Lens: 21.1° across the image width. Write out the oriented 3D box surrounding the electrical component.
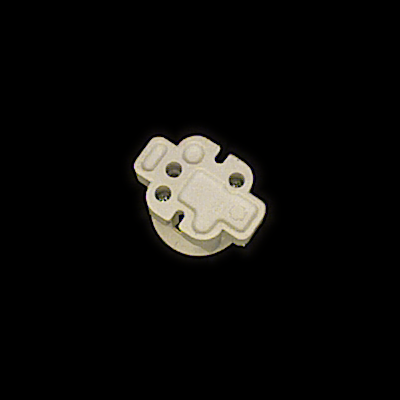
[{"bbox_3d":[0.000,0.000,0.636,0.078,0.058,0.056,32,-14,7],"label":"electrical component"}]
